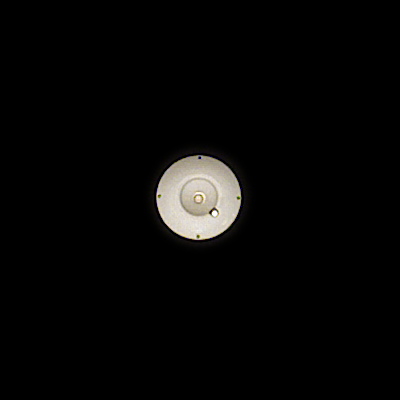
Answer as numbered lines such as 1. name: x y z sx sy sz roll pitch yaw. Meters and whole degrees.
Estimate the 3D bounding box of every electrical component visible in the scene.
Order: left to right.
1. electrical component: 0.000 0.000 0.635 0.048 0.048 0.062 0 -6 0
